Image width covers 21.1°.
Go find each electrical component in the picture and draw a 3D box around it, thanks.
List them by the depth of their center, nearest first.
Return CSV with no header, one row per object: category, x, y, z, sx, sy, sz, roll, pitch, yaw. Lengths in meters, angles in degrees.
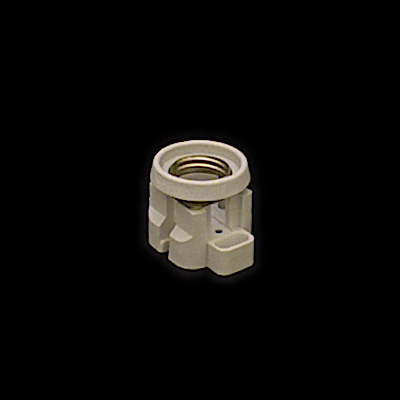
electrical component,0.000,0.000,0.635,0.058,0.057,0.077,-21,38,-31
